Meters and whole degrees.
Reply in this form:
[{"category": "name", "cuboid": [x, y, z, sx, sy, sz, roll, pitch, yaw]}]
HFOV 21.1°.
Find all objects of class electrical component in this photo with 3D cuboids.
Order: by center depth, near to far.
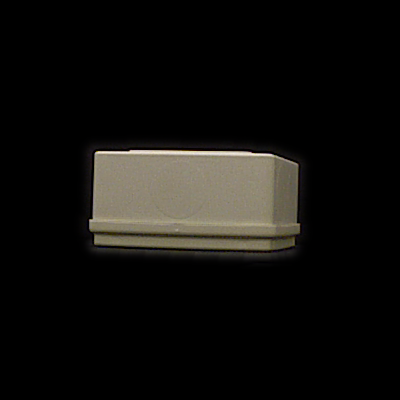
[{"category": "electrical component", "cuboid": [0.000, 0.000, 0.652, 0.108, 0.056, 0.109, 2, 0, 13]}]
